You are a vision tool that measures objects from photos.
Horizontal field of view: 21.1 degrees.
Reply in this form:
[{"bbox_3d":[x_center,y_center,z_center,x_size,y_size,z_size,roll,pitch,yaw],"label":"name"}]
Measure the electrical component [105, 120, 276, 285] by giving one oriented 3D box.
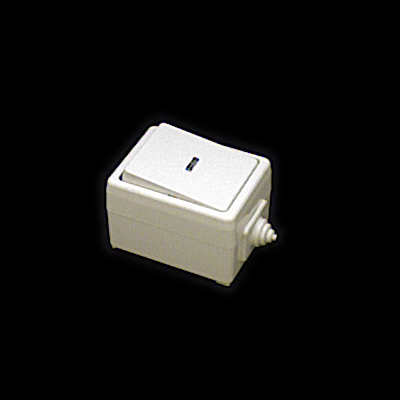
[{"bbox_3d":[0.000,0.000,0.629,0.096,0.061,0.061,17,44,18],"label":"electrical component"}]
